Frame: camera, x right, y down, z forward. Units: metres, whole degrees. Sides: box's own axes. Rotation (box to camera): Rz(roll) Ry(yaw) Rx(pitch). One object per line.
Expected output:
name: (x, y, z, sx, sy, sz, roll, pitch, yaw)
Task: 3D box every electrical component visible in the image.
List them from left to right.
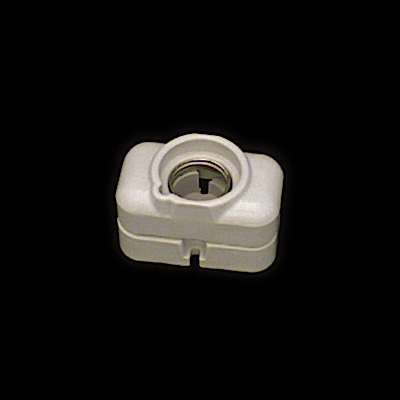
electrical component: (0.000, 0.000, 0.634, 0.095, 0.053, 0.059, 6, -37, 4)
